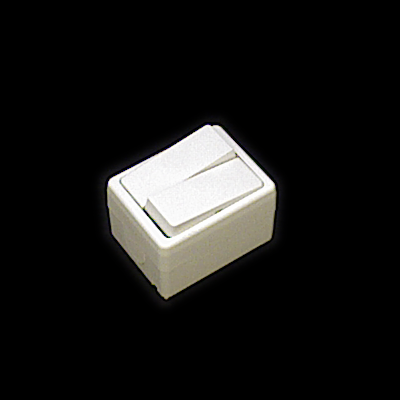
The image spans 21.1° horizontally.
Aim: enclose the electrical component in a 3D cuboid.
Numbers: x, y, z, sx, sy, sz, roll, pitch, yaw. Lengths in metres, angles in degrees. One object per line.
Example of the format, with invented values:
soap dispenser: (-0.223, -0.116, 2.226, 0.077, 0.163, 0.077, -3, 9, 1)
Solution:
electrical component: (0.000, 0.000, 0.629, 0.096, 0.061, 0.061, -28, -33, -21)
